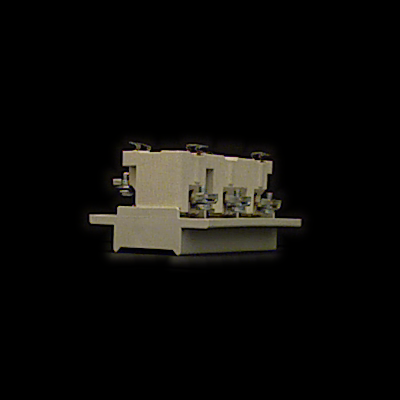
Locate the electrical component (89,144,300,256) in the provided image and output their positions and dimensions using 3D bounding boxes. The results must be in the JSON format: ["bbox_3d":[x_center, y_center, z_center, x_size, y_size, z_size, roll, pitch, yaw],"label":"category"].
[{"bbox_3d":[0.000,0.000,0.657,0.078,0.063,0.122,2,1,30],"label":"electrical component"}]
